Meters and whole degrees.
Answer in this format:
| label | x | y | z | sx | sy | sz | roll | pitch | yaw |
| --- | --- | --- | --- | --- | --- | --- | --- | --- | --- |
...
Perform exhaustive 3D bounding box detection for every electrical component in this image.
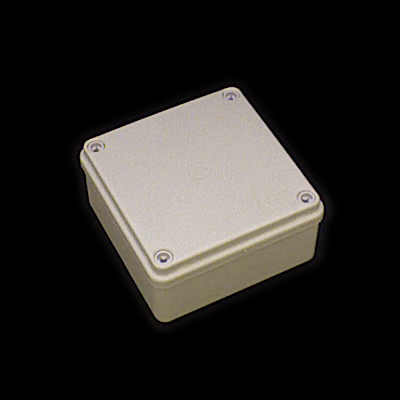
| label | x | y | z | sx | sy | sz | roll | pitch | yaw |
| --- | --- | --- | --- | --- | --- | --- | --- | --- | --- |
| electrical component | 0.000 | 0.000 | 0.631 | 0.109 | 0.108 | 0.056 | -22 | -35 | -17 |
